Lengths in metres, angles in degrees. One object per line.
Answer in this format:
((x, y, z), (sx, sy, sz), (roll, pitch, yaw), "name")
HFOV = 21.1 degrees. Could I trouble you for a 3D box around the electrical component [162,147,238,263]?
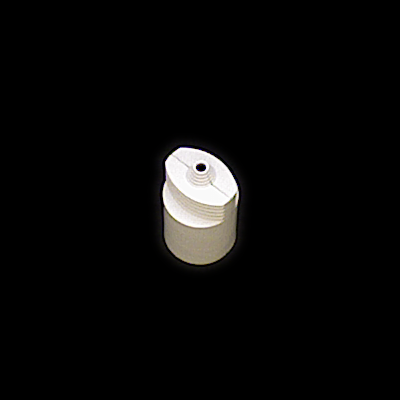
((0.000, 0.000, 0.617), (0.043, 0.043, 0.081), (0, -27, 0), "electrical component")
